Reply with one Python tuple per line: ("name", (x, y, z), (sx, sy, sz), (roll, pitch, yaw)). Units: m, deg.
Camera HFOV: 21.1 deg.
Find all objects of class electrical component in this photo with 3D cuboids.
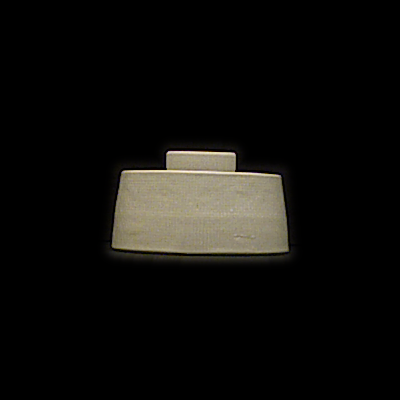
("electrical component", (0.001, 0.000, 0.658), (0.108, 0.060, 0.108), (1, 1, 1))
